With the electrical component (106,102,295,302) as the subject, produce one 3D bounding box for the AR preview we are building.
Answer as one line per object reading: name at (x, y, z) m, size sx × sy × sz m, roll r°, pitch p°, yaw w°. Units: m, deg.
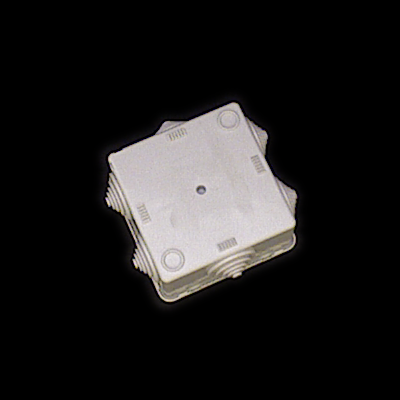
electrical component at (0.000, 0.000, 0.632) m, size 0.100 × 0.100 × 0.048 m, roll -23°, pitch -15°, yaw -7°
